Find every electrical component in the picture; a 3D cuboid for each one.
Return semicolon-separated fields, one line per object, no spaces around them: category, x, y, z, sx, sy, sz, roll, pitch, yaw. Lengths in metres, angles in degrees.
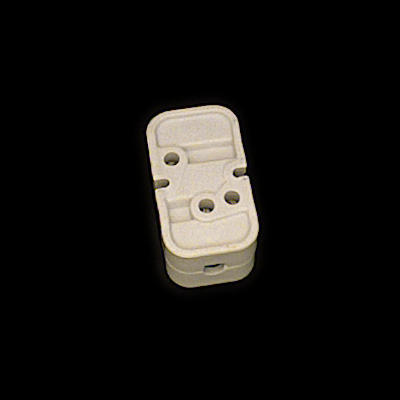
electrical component;0.000;0.000;0.636;0.054;0.095;0.059;-8;-27;-4
